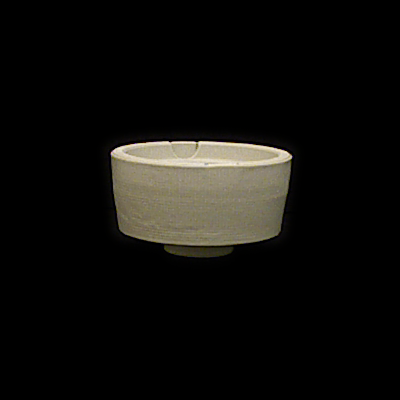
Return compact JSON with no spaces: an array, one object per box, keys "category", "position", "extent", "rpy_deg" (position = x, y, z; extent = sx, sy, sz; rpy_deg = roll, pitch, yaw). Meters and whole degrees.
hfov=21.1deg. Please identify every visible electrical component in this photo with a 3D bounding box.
[{"category":"electrical component","position":[0.000,0.000,0.648],"extent":[0.108,0.061,0.107],"rpy_deg":[1,11,0]}]
